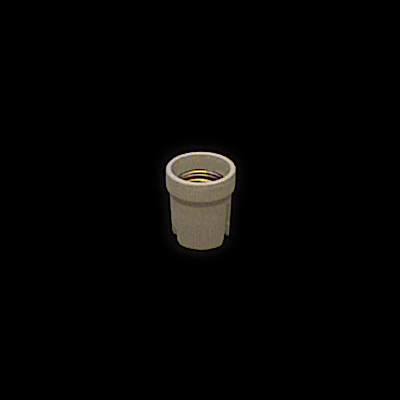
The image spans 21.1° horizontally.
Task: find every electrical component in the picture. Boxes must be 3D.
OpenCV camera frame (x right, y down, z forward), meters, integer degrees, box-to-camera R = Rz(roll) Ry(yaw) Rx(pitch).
[{"bbox_3d":[0.000,0.000,0.637,0.040,0.047,0.039,1,32,0],"label":"electrical component"}]
